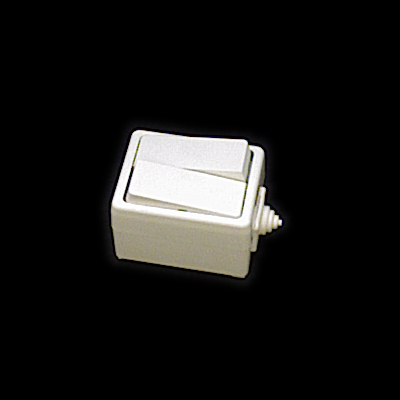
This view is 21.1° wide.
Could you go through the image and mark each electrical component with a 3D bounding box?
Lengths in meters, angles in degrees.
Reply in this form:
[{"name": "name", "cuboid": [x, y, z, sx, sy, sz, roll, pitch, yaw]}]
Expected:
[{"name": "electrical component", "cuboid": [0.000, 0.000, 0.628, 0.096, 0.061, 0.061, 9, -37, 6]}]
